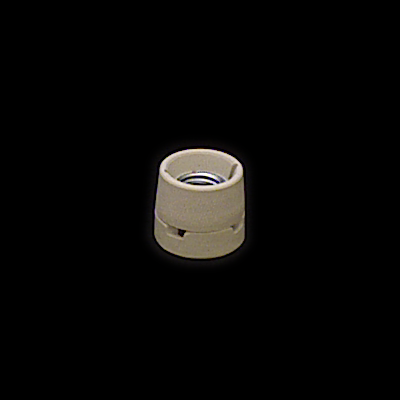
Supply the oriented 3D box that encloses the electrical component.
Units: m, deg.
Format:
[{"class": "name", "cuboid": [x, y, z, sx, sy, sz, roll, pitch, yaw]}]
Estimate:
[{"class": "electrical component", "cuboid": [0.000, 0.000, 0.638, 0.055, 0.047, 0.055, 2, 31, -1]}]
